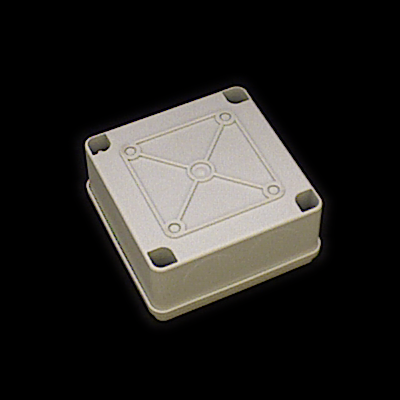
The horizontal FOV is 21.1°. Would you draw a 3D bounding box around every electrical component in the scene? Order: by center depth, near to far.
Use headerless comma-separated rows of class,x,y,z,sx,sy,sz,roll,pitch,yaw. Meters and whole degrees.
electrical component,0.000,0.000,0.629,0.109,0.108,0.056,-21,-35,-15
